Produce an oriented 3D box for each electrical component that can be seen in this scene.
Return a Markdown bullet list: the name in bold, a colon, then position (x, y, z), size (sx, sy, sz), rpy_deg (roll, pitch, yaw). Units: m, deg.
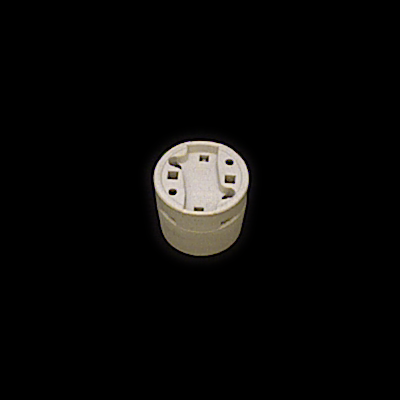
- **electrical component**: position (0.000, 0.000, 0.634), size (0.055, 0.055, 0.047), rpy_deg (0, -38, 0)
